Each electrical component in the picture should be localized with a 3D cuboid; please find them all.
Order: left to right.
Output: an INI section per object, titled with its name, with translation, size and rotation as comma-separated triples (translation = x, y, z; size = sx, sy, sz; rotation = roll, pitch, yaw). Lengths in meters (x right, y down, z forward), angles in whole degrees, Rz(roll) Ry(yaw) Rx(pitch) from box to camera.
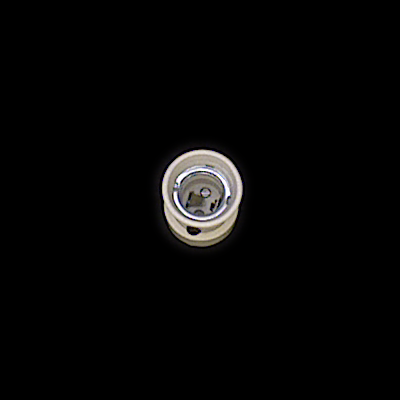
[electrical component]
translation = 0.000, 0.000, 0.628
size = 0.045, 0.045, 0.055
rotation = 0, -16, 0
